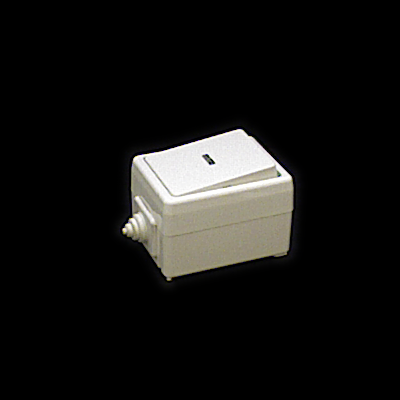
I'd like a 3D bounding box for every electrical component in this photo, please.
[{"bbox_3d":[0.000,0.000,0.634,0.096,0.061,0.061,-11,33,-20],"label":"electrical component"}]
